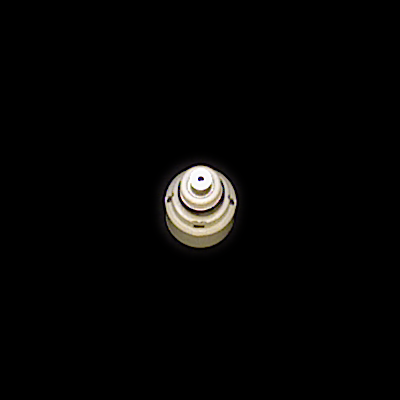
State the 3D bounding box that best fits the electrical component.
[{"bbox_3d":[0.000,0.000,0.617,0.040,0.040,0.078,0,-17,-1],"label":"electrical component"}]
